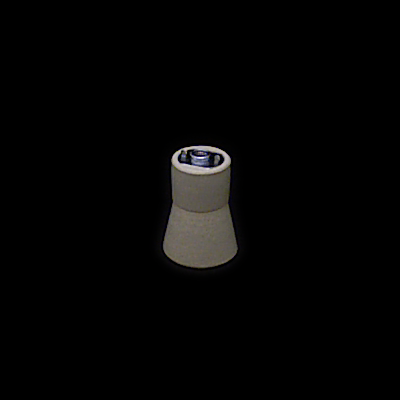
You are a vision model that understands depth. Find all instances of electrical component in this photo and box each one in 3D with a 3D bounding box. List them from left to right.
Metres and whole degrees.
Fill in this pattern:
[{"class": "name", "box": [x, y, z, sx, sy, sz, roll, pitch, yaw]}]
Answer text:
[{"class": "electrical component", "box": [0.000, 0.000, 0.634, 0.044, 0.066, 0.044, 1, 30, 0]}]
